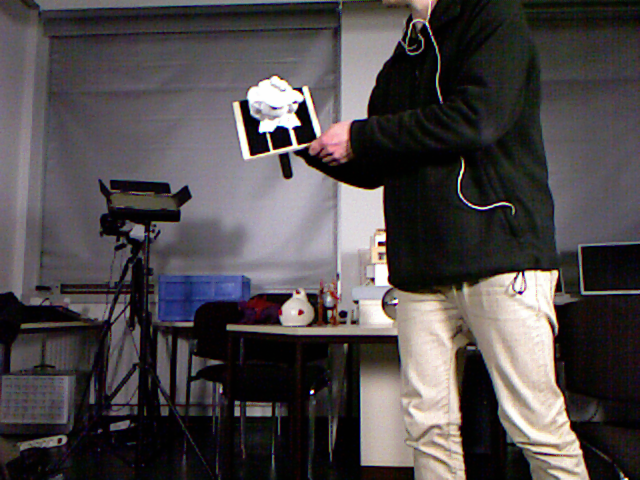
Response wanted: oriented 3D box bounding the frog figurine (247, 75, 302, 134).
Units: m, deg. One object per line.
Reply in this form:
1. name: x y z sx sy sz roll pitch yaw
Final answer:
1. frog figurine: -0.115 -0.353 1.269 0.137 0.126 0.156 5 -34 9
